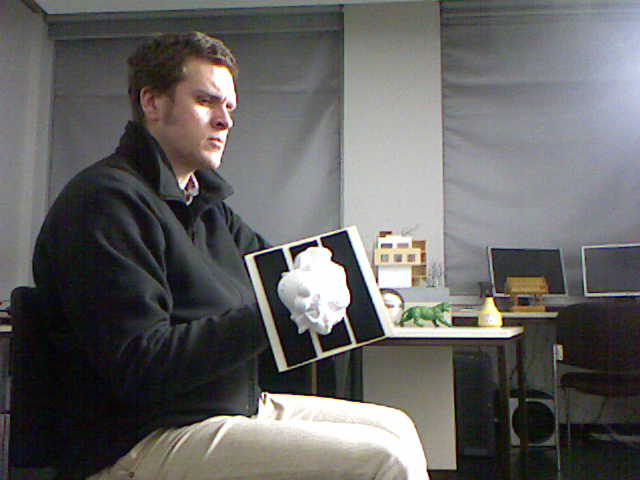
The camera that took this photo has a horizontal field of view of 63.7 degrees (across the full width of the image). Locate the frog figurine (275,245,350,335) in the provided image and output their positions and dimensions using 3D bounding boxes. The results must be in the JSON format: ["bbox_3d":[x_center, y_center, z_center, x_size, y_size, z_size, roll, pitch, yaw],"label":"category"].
[{"bbox_3d":[-0.008,0.073,0.786,0.123,0.140,0.158,4,-16,-7],"label":"frog figurine"}]
